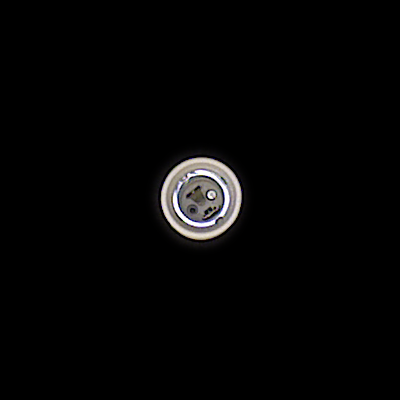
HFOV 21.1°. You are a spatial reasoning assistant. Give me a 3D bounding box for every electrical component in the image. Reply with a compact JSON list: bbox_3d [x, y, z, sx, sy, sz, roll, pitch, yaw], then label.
[{"bbox_3d":[0.000,0.000,0.629,0.045,0.045,0.055,0,-5,0],"label":"electrical component"}]
